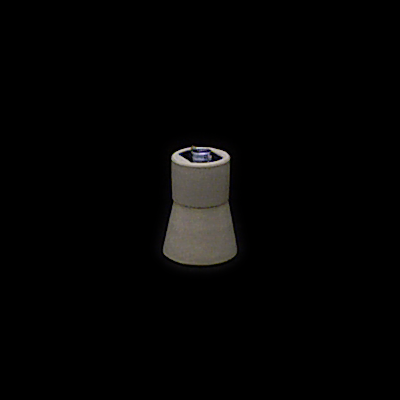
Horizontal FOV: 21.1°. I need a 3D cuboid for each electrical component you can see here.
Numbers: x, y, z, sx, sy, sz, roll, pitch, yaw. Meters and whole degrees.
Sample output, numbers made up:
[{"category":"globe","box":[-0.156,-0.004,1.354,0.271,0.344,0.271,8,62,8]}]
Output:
[{"category":"electrical component","box":[0.000,0.000,0.638,0.044,0.066,0.044,0,22,0]}]
